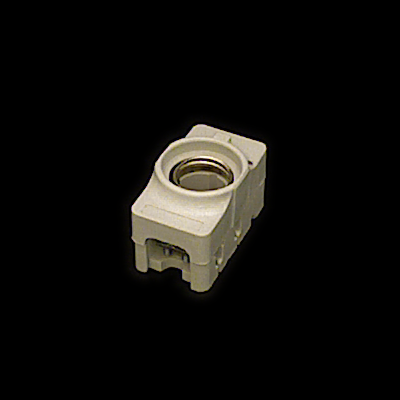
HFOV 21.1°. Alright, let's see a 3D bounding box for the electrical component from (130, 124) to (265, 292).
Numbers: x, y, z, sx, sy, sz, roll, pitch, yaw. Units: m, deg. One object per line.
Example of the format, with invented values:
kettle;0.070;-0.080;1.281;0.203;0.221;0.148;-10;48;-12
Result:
electrical component;0.000;0.000;0.639;0.050;0.056;0.089;18;45;18
